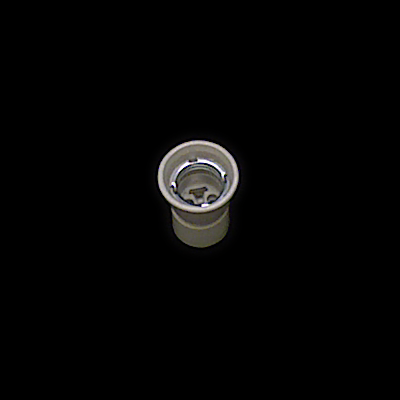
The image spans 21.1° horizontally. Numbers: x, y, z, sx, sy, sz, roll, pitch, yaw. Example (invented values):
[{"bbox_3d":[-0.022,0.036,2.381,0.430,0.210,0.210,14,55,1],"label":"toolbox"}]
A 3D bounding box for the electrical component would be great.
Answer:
[{"bbox_3d":[0.000,0.000,0.624,0.044,0.044,0.065,0,-27,1],"label":"electrical component"}]
